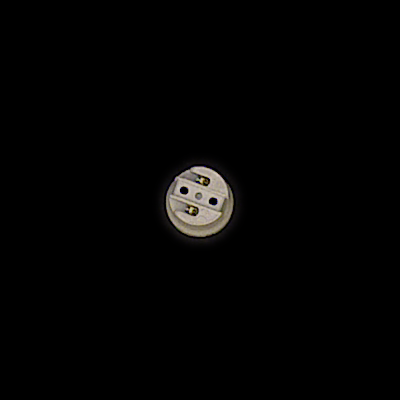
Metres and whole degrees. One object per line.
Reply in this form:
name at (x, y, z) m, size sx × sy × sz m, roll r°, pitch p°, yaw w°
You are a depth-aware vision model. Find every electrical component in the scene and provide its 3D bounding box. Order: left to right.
electrical component at (0.000, 0.000, 0.634) m, size 0.040 × 0.040 × 0.046 m, roll 0°, pitch -6°, yaw 0°
